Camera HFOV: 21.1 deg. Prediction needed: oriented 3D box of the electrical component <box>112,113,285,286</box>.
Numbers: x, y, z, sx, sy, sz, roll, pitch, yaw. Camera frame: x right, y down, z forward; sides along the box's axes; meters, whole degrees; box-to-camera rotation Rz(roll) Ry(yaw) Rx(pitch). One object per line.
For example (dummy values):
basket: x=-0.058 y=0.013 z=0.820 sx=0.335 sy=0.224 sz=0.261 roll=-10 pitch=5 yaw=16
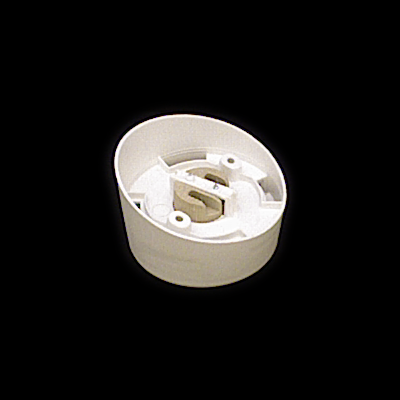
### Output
electrical component: x=0.000 y=0.000 z=0.629 sx=0.099 sy=0.065 sz=0.098 roll=0 pitch=42 yaw=0
